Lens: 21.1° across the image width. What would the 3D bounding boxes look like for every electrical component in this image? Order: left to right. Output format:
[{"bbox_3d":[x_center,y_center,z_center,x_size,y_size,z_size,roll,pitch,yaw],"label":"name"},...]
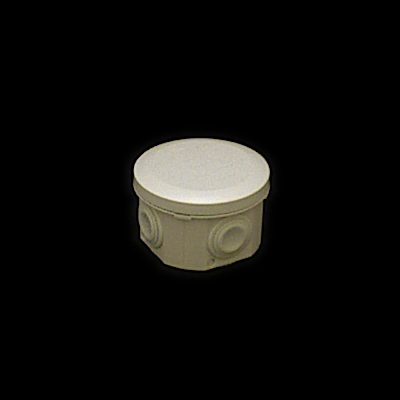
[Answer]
[{"bbox_3d":[0.000,0.000,0.638,0.080,0.051,0.079,1,31,0],"label":"electrical component"}]
